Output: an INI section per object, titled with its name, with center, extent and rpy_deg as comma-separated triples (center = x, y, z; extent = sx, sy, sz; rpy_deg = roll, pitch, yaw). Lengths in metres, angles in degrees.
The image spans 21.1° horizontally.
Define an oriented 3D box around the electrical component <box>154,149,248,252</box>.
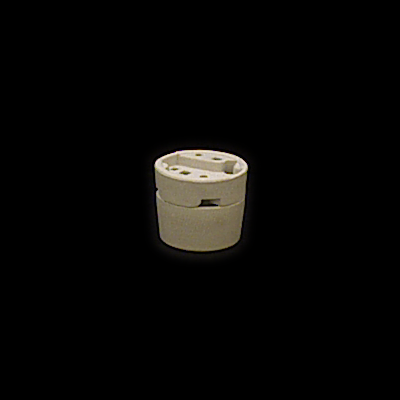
[electrical component]
center = 0.000, 0.000, 0.642
extent = 0.055, 0.047, 0.055
rpy_deg = 1, 21, 0
